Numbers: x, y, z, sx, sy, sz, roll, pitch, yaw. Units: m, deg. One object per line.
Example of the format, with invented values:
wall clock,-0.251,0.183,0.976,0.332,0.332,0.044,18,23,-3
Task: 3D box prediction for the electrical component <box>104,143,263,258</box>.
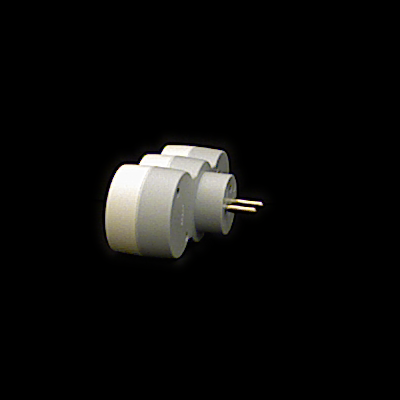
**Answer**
electrical component,0.000,0.000,0.649,0.073,0.052,0.138,6,12,14
